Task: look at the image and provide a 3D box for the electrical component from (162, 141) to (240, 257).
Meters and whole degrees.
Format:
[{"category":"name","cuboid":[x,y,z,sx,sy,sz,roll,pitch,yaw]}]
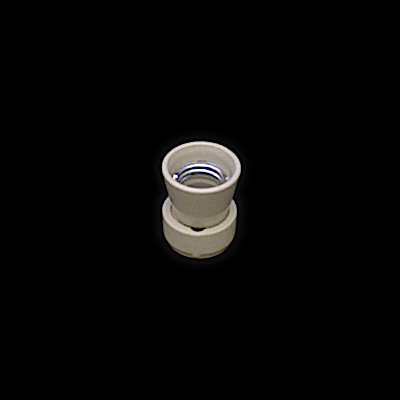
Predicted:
[{"category":"electrical component","cuboid":[0.000,0.000,0.633,0.045,0.056,0.044,1,42,-1]}]
